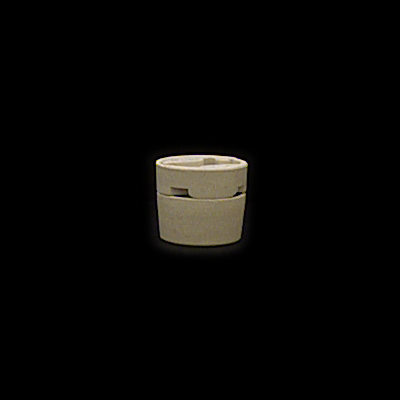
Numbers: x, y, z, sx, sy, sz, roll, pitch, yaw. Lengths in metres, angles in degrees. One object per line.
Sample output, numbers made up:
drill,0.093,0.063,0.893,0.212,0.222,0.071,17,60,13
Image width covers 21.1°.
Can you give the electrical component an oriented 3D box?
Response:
electrical component,0.000,0.000,0.645,0.055,0.047,0.055,1,10,0
